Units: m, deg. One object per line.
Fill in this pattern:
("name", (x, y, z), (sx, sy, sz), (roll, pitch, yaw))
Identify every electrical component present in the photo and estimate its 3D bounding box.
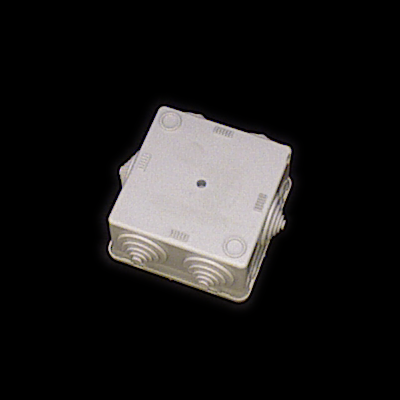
("electrical component", (0.000, 0.000, 0.631), (0.099, 0.100, 0.048), (19, -25, 9))
